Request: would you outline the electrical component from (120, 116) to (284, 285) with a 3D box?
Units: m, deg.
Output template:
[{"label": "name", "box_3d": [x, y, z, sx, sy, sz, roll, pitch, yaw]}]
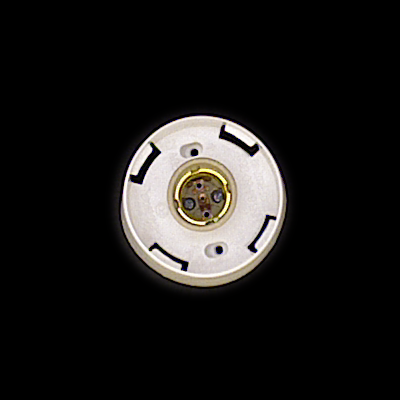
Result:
[{"label": "electrical component", "box_3d": [0.000, 0.000, 0.625, 0.099, 0.099, 0.064, 0, -6, 1]}]
